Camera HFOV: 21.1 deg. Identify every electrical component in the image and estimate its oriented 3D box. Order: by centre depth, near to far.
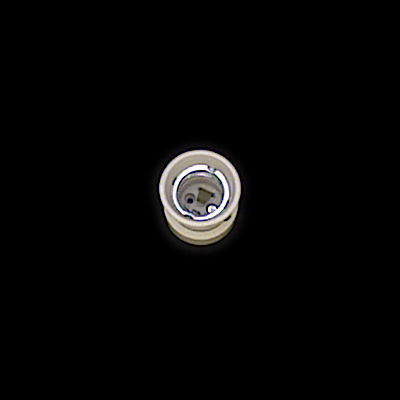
[{"bbox_3d":[0.000,0.000,0.627,0.045,0.045,0.055,0,-16,1],"label":"electrical component"}]
